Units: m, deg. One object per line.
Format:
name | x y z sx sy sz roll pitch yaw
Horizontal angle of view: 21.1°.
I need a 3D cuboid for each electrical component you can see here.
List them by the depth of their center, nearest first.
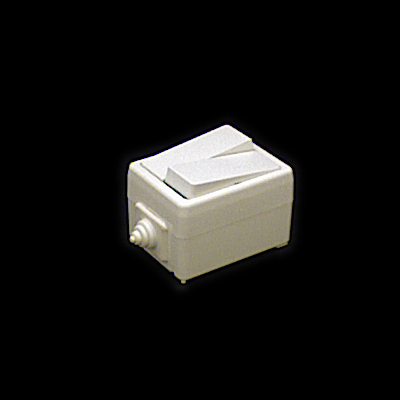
electrical component | 0.000 0.000 0.633 0.096 0.061 0.061 -18 36 -29
